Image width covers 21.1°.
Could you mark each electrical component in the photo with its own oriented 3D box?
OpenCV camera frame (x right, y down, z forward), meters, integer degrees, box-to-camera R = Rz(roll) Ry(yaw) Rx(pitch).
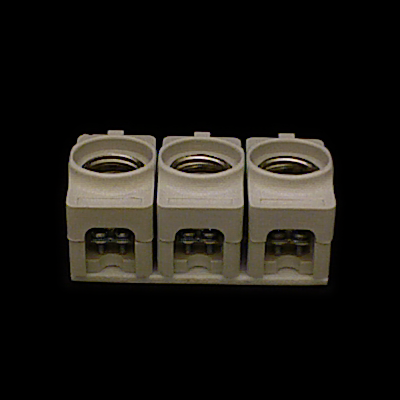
[{"bbox_3d":[0.000,0.000,0.642,0.150,0.063,0.087,1,30,-1],"label":"electrical component"}]
